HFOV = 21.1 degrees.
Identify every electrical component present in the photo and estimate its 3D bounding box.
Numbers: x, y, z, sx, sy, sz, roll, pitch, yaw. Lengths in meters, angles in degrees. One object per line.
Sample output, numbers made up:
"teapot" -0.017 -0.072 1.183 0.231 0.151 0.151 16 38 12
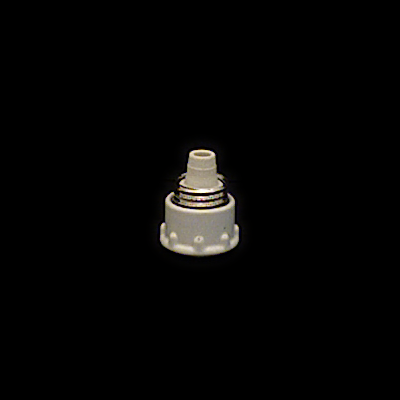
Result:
"electrical component" 0.000 0.000 0.646 0.048 0.063 0.047 2 23 0
